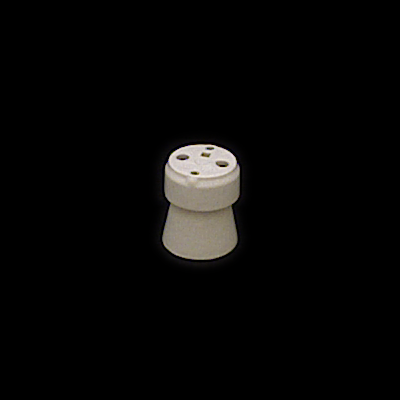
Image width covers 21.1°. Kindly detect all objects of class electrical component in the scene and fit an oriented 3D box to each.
[{"bbox_3d":[0.000,0.000,0.635,0.045,0.056,0.044,1,32,0],"label":"electrical component"}]
